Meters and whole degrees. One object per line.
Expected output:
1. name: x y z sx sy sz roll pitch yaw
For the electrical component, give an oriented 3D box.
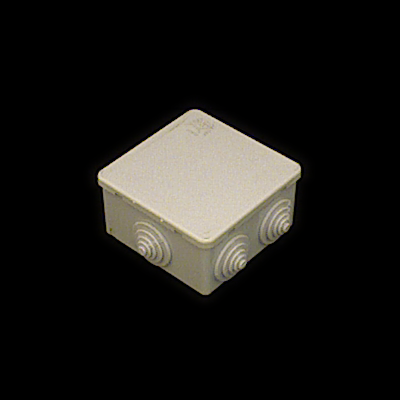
1. electrical component: 0.000 0.000 0.643 0.098 0.049 0.100 31 50 29
